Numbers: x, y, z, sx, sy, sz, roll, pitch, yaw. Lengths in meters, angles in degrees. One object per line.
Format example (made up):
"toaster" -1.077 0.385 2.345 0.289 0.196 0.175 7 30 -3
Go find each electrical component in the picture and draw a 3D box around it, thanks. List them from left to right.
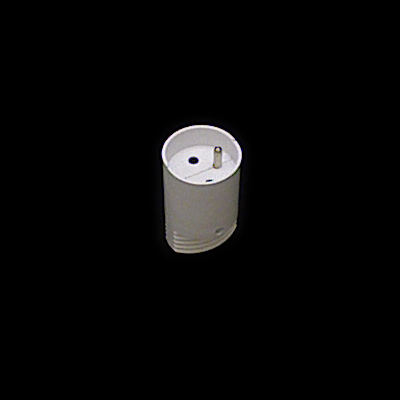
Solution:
"electrical component" 0.000 0.000 0.621 0.043 0.043 0.081 0 -38 -1
